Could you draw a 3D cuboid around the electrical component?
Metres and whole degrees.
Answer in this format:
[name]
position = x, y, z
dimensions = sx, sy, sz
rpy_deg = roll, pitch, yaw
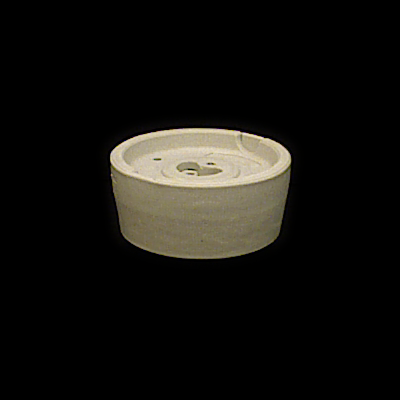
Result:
[electrical component]
position = 0.000, 0.000, 0.650
dimensions = 0.108, 0.061, 0.106
rpy_deg = 1, 21, 0
